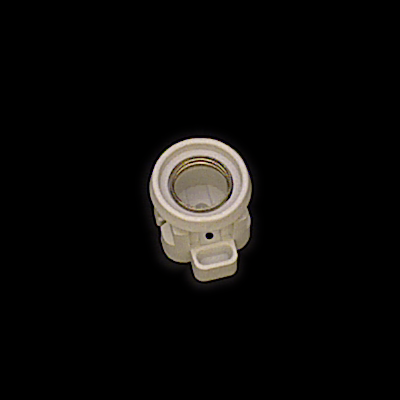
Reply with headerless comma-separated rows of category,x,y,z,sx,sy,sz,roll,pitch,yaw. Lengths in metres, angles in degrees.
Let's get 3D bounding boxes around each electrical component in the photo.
electrical component,0.000,0.000,0.629,0.058,0.078,0.057,-13,-26,-6
